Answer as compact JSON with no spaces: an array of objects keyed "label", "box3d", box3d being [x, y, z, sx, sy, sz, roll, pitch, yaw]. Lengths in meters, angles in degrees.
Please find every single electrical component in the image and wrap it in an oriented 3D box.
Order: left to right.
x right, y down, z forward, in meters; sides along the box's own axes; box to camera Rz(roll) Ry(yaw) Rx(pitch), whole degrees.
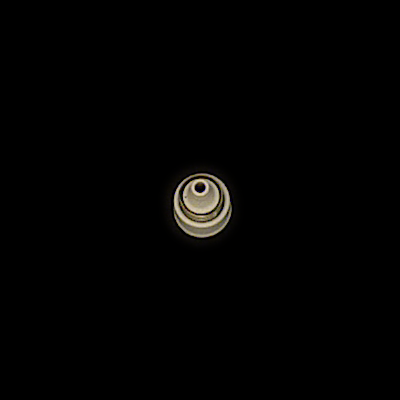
[{"label":"electrical component","box3d":[0.000,0.000,0.637,0.035,0.035,0.061,0,-15,2]}]
